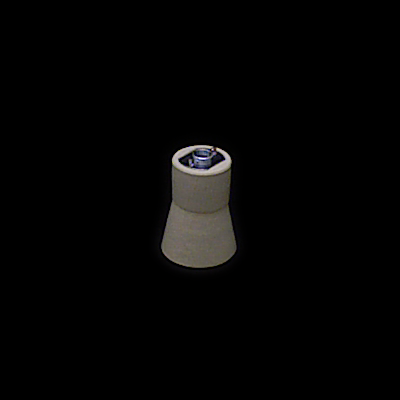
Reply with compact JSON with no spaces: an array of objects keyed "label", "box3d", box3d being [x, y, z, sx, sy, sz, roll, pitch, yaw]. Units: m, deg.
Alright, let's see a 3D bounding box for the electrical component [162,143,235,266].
[{"label":"electrical component","box3d":[0.000,0.000,0.631,0.044,0.066,0.044,2,32,-1]}]
